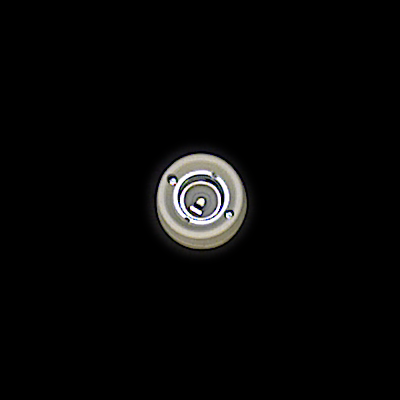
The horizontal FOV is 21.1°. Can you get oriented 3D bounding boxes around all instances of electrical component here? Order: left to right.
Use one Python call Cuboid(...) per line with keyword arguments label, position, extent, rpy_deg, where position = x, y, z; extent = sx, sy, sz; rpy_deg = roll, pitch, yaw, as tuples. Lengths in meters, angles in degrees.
Cuboid(label="electrical component", position=(0.000, 0.000, 0.634), extent=(0.055, 0.055, 0.047), rpy_deg=(0, -7, 1))
